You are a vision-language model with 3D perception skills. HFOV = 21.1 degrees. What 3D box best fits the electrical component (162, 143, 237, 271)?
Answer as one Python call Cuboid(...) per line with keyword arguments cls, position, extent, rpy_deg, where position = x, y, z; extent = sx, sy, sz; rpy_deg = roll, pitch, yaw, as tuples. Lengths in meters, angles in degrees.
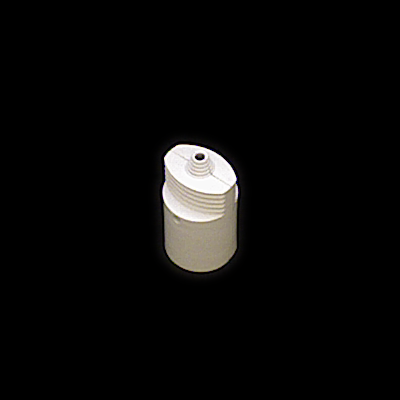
Cuboid(cls="electrical component", position=(0.000, 0.000, 0.620), extent=(0.043, 0.043, 0.081), rpy_deg=(0, -38, 0))
